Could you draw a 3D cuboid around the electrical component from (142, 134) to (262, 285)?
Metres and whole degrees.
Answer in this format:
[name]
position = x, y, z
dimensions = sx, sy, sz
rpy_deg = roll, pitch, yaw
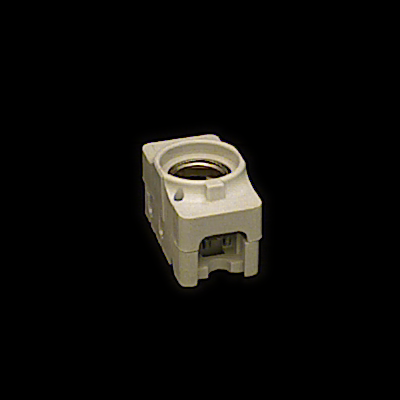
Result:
[electrical component]
position = 0.000, 0.000, 0.642
dimensions = 0.050, 0.056, 0.088
rpy_deg = -9, 33, -15
